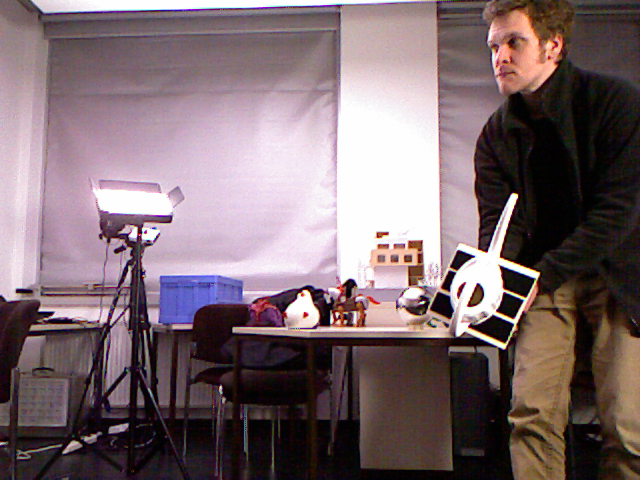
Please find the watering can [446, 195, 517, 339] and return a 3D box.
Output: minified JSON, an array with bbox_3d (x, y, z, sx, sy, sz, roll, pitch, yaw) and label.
[{"bbox_3d":[0.391,0.076,1.213,0.105,0.349,0.223,26,-2,26],"label":"watering can"}]
